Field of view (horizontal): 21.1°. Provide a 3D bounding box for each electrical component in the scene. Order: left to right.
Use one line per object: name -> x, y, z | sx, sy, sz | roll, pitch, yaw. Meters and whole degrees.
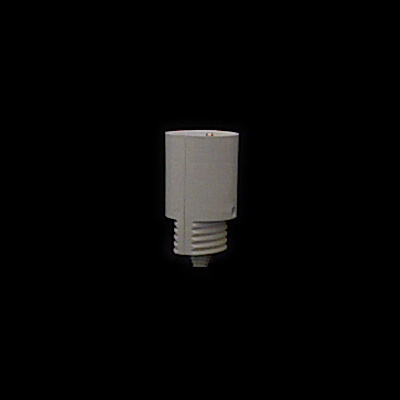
electrical component -> 0.000, 0.000, 0.644 | 0.043, 0.082, 0.043 | 2, 11, 0
